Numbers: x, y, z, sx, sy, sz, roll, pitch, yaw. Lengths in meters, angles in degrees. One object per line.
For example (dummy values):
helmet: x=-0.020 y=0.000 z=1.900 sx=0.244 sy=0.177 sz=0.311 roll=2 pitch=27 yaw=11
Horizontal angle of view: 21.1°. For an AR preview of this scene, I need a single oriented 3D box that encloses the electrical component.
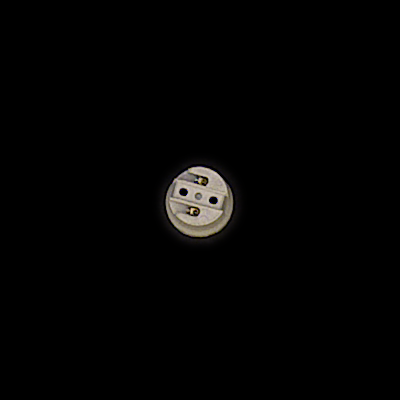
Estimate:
electrical component: x=0.000 y=0.000 z=0.634 sx=0.040 sy=0.040 sz=0.046 roll=0 pitch=-6 yaw=0
